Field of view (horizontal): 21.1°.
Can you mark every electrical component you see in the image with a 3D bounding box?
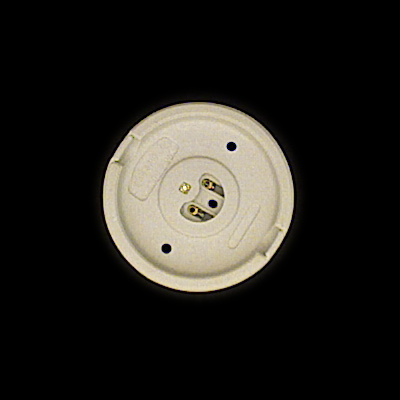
[{"bbox_3d":[0.000,0.000,0.635,0.108,0.108,0.060,0,-6,0],"label":"electrical component"}]
